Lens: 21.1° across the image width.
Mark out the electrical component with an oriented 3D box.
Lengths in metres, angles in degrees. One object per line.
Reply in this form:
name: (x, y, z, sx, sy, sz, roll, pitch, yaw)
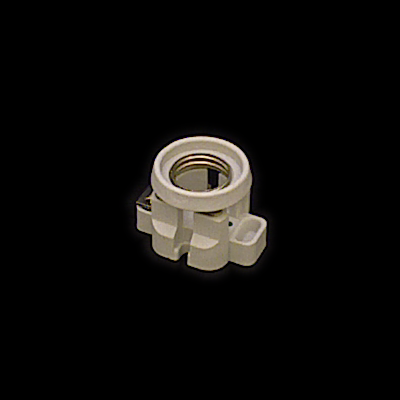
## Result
electrical component: (0.000, 0.000, 0.631, 0.078, 0.057, 0.057, 18, 45, 18)
